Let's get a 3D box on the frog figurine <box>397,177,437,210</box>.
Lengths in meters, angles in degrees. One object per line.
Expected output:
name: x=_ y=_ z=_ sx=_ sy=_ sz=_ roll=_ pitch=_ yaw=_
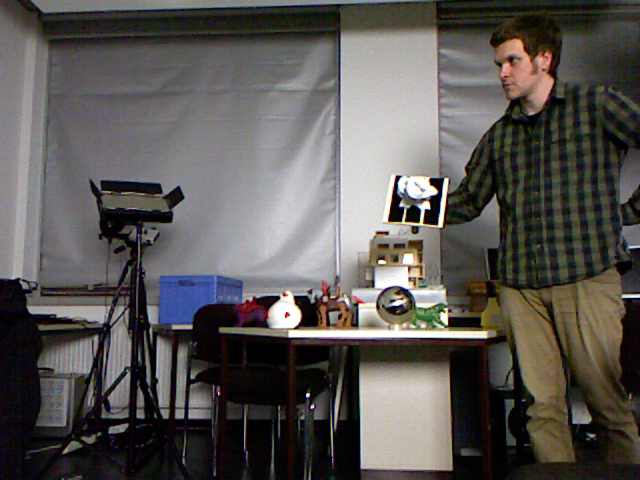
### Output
frog figurine: x=0.330 y=-0.181 z=1.761 sx=0.138 sy=0.125 sz=0.156 roll=26 pitch=-25 yaw=23
